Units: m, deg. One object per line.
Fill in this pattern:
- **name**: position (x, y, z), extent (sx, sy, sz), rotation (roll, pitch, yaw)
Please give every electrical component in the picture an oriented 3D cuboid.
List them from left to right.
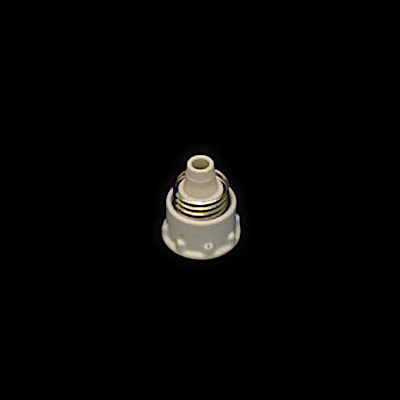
- **electrical component**: position (0.000, 0.000, 0.636), extent (0.048, 0.062, 0.047), rotation (0, 43, 1)
